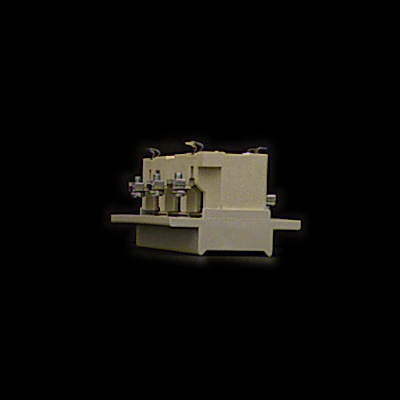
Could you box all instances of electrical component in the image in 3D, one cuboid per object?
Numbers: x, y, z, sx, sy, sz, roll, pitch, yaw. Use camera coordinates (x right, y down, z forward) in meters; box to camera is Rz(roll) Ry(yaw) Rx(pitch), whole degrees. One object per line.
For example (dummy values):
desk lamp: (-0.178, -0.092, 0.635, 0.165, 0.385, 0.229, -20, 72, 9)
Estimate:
electrical component: (0.000, 0.000, 0.659, 0.079, 0.063, 0.121, 2, 0, -20)
